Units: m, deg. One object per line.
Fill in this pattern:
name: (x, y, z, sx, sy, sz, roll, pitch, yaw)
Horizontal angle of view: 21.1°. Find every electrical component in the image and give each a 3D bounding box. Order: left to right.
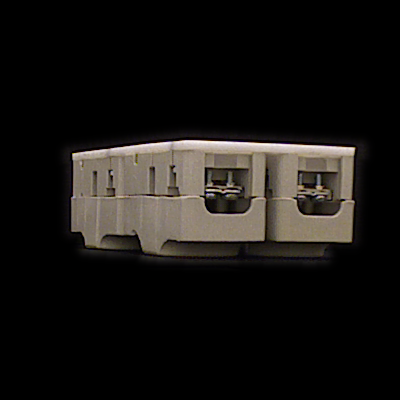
electrical component: (0.000, 0.000, 0.650, 0.106, 0.060, 0.186, 1, 0, -25)
